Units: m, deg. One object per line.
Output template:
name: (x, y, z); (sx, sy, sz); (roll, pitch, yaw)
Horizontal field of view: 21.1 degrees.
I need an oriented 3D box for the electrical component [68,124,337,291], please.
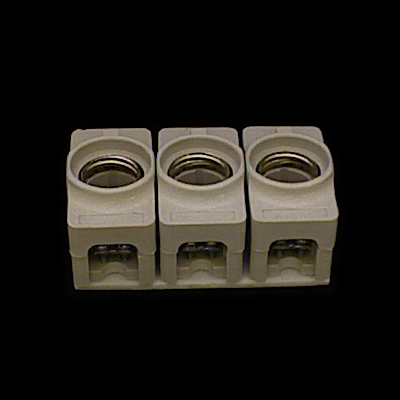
electrical component: (0.000, 0.000, 0.638); (0.150, 0.063, 0.087); (-1, 41, -3)
